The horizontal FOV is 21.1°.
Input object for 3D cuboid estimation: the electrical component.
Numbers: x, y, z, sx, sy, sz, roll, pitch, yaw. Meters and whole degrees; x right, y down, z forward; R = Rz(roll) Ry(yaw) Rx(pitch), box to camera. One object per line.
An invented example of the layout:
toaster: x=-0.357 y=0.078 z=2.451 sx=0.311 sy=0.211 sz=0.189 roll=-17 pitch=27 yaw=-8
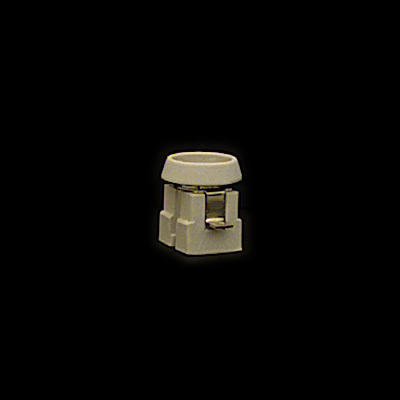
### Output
electrical component: x=0.000 y=0.000 z=0.651 sx=0.049 sy=0.056 sz=0.065 roll=-7 pitch=14 yaw=-26
